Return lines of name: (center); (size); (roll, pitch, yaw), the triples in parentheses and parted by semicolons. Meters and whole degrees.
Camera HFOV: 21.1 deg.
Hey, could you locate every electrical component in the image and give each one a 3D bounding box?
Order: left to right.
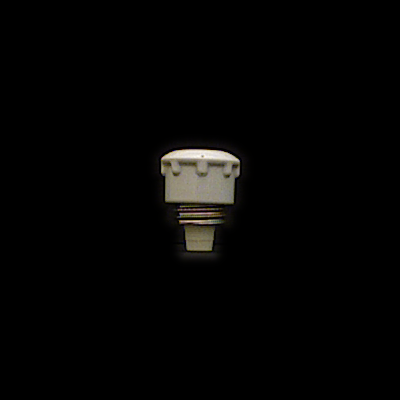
electrical component: (0.000, 0.000, 0.655); (0.048, 0.062, 0.048); (2, 1, 1)
